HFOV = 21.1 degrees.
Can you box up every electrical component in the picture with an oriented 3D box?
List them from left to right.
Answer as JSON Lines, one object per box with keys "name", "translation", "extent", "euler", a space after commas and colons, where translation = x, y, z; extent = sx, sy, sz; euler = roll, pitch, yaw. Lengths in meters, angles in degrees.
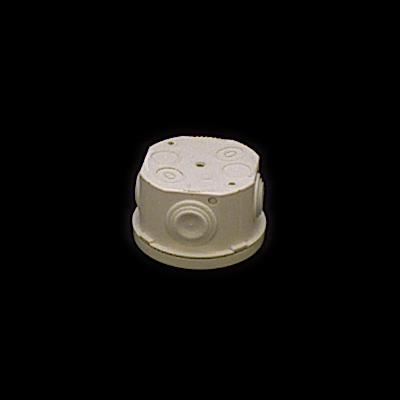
{"name": "electrical component", "translation": [0.000, 0.000, 0.637], "extent": [0.080, 0.051, 0.079], "euler": [1, 32, -1]}
